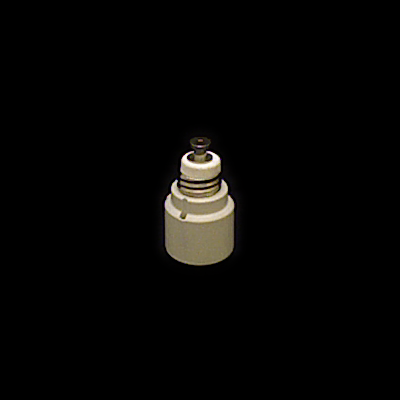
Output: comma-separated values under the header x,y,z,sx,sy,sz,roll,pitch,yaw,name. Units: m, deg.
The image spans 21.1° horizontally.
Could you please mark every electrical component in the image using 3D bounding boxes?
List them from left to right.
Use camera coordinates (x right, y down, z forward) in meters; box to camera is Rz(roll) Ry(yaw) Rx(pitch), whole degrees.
x,y,z,sx,sy,sz,roll,pitch,yaw,name
0.000,0.000,0.631,0.040,0.079,0.039,1,32,0,electrical component
